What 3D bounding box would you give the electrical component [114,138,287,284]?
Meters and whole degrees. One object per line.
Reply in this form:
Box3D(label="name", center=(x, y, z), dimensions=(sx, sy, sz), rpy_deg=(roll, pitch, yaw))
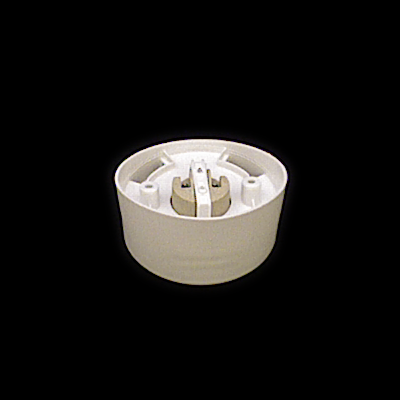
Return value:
Box3D(label="electrical component", center=(0.000, 0.000, 0.628), dimensions=(0.099, 0.065, 0.098), rpy_deg=(1, 43, -1))
